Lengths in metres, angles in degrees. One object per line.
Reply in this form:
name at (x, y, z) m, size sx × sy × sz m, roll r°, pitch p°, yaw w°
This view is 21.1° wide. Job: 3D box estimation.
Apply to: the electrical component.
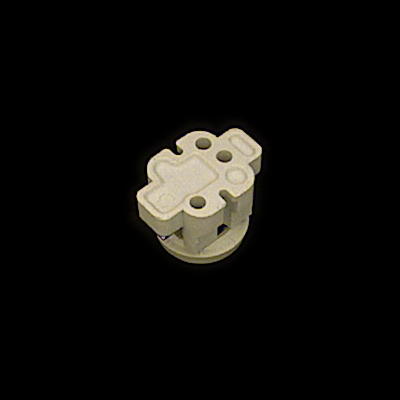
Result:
electrical component at (0.000, 0.000, 0.635) m, size 0.079 × 0.057 × 0.057 m, roll -36°, pitch -28°, yaw -23°
